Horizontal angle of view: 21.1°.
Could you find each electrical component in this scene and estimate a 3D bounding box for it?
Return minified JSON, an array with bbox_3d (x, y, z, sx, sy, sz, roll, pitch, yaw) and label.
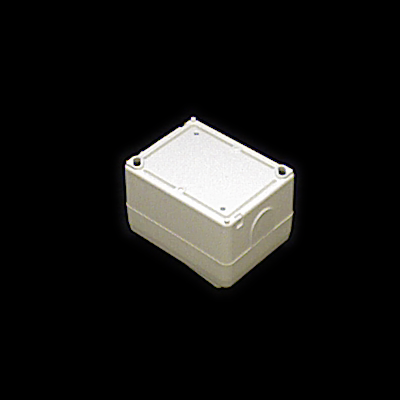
[{"bbox_3d":[0.000,0.000,0.633,0.095,0.061,0.062,30,50,29],"label":"electrical component"}]
